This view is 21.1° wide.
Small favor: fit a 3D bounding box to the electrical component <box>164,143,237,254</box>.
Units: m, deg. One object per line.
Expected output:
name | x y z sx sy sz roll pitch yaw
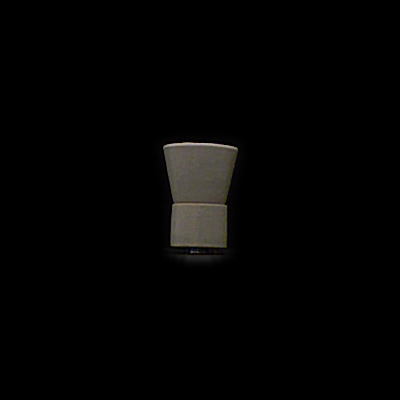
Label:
electrical component | 0.000 0.000 0.652 0.044 0.065 0.044 1 0 0
